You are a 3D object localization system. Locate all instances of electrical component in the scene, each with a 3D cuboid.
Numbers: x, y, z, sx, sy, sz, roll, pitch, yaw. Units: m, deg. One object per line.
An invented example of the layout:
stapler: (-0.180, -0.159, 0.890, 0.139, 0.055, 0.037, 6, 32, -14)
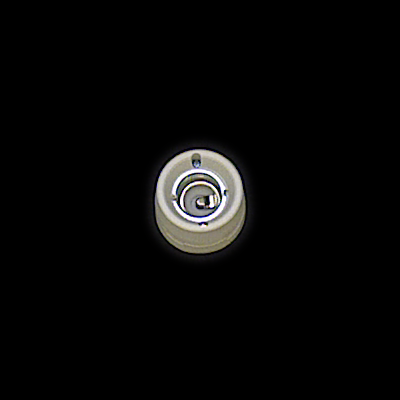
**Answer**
electrical component: (0.000, 0.000, 0.632, 0.055, 0.056, 0.047, 0, -16, 0)
